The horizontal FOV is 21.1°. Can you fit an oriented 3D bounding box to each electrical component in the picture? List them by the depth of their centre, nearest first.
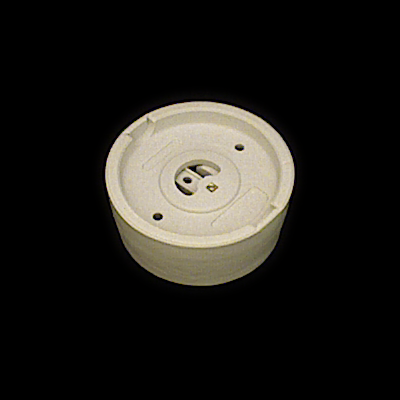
[{"bbox_3d":[0.000,0.000,0.635,0.108,0.107,0.060,0,-37,0],"label":"electrical component"}]
